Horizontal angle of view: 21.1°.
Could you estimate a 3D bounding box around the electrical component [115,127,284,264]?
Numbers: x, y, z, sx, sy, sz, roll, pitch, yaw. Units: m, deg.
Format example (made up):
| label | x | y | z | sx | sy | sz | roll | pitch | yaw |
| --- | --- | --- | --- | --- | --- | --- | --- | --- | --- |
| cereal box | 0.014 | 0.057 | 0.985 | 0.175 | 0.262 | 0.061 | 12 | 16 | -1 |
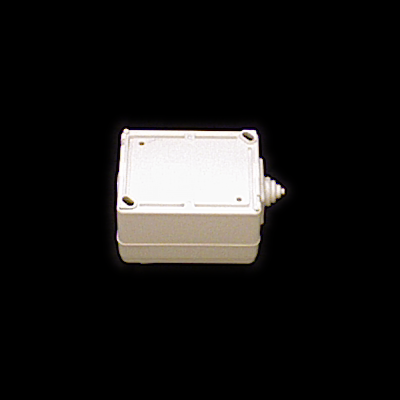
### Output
| label | x | y | z | sx | sy | sz | roll | pitch | yaw |
| --- | --- | --- | --- | --- | --- | --- | --- | --- | --- |
| electrical component | 0.000 | 0.000 | 0.628 | 0.096 | 0.061 | 0.061 | 1 | -38 | -1 |
